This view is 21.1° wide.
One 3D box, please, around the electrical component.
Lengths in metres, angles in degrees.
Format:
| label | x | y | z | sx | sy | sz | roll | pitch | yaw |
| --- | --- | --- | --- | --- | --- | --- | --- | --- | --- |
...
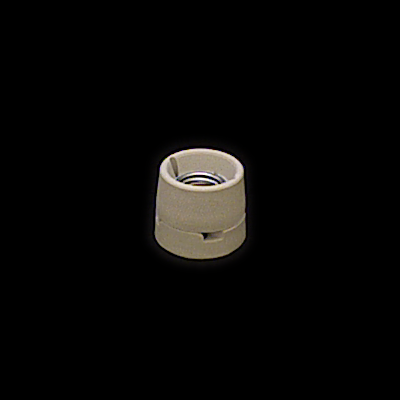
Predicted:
| label | x | y | z | sx | sy | sz | roll | pitch | yaw |
| --- | --- | --- | --- | --- | --- | --- | --- | --- | --- |
| electrical component | 0.000 | 0.000 | 0.637 | 0.055 | 0.047 | 0.055 | 1 | 32 | -1 |
